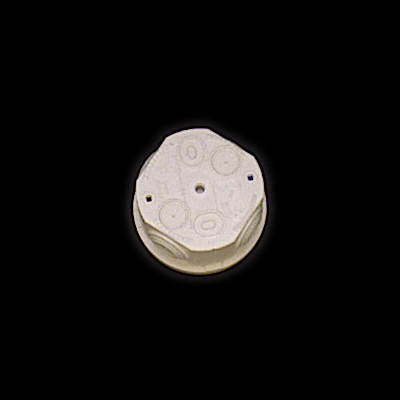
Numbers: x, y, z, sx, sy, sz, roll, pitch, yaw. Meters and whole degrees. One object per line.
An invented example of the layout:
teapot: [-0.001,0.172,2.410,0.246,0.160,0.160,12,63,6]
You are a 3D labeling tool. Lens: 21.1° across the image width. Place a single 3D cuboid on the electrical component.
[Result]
electrical component: [0.000,0.000,0.632,0.080,0.080,0.050,0,-17,-1]
